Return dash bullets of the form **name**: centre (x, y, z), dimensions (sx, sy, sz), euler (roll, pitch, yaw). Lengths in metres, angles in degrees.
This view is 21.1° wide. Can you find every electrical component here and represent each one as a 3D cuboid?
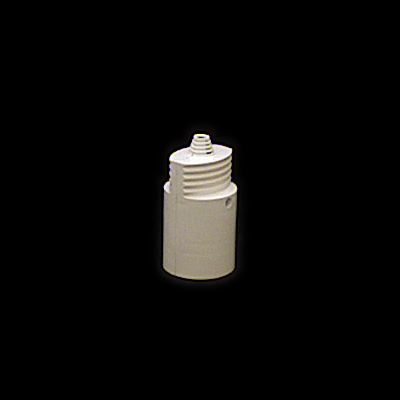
- **electrical component**: centre (0.000, 0.000, 0.634), dimensions (0.043, 0.082, 0.042), euler (1, 21, 0)
